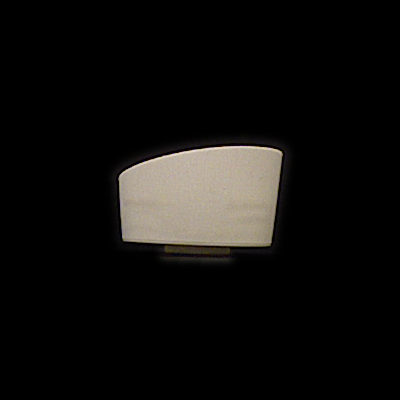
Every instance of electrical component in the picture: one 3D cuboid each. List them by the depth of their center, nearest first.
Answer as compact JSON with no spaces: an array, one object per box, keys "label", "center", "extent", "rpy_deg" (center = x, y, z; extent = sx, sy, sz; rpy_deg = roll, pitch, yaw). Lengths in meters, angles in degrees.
[{"label":"electrical component","center":[0.000,0.000,0.650],"extent":[0.099,0.064,0.099],"rpy_deg":[2,0,0]}]
